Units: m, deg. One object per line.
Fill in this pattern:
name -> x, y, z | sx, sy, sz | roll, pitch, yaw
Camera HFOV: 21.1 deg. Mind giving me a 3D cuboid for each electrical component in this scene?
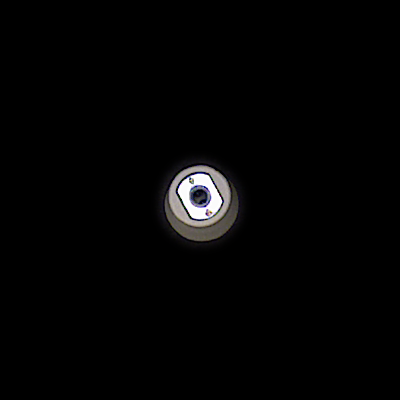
electrical component -> 0.000, 0.000, 0.626 | 0.044, 0.044, 0.065 | 0, -5, 1
